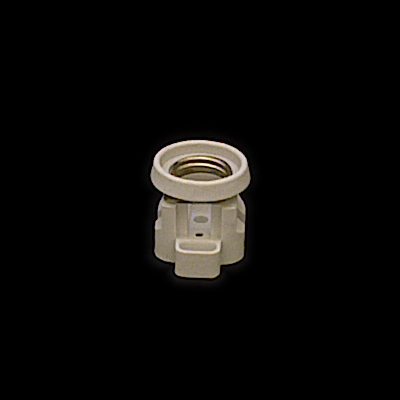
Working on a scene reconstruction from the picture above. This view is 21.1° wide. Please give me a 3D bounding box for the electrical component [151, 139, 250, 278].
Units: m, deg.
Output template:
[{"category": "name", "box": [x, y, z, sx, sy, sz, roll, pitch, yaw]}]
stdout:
[{"category": "electrical component", "box": [0.000, 0.000, 0.636, 0.058, 0.057, 0.077, 2, 31, 2]}]
